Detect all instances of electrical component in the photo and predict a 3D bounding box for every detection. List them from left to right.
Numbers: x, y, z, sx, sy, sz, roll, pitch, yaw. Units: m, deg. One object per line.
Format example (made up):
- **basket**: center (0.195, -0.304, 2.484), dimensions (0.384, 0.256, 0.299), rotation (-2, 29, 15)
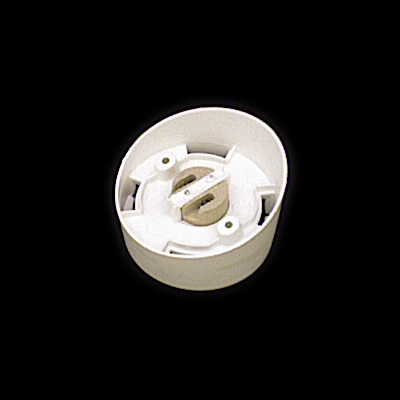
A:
- **electrical component**: center (0.000, 0.000, 0.626), dimensions (0.099, 0.098, 0.064), rotation (0, -38, -1)
